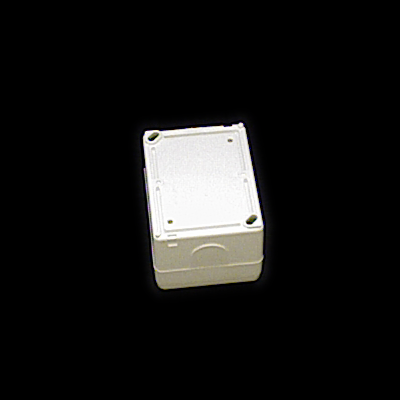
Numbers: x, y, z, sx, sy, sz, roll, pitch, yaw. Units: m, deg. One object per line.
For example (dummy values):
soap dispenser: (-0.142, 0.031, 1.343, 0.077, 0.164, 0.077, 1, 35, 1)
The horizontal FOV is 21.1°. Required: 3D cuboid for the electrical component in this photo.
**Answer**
electrical component: (0.000, 0.000, 0.632, 0.062, 0.095, 0.061, -5, -38, -4)
